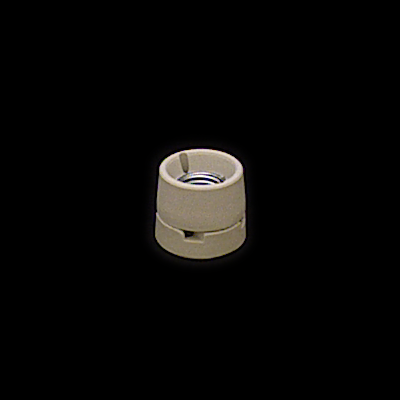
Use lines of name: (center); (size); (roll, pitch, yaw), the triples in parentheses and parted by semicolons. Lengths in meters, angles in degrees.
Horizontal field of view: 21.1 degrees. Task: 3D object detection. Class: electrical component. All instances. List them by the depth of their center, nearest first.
electrical component: (0.000, 0.000, 0.639); (0.055, 0.047, 0.055); (1, 30, 0)
